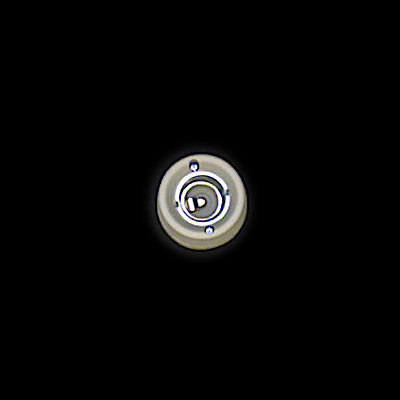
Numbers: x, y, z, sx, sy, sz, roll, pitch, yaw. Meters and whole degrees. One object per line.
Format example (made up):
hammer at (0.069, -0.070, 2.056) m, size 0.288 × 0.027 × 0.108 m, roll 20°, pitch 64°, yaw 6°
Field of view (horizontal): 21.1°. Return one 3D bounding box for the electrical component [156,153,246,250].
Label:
electrical component at (0.000, 0.000, 0.634) m, size 0.055 × 0.055 × 0.047 m, roll 0°, pitch -8°, yaw 0°
